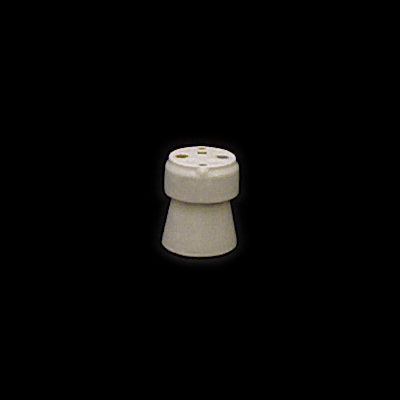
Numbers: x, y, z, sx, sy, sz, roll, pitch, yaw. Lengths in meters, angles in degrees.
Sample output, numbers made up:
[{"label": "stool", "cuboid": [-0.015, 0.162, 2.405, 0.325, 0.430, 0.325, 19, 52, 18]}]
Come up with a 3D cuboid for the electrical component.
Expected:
[{"label": "electrical component", "cuboid": [0.000, 0.000, 0.640, 0.045, 0.056, 0.044, 1, 22, 0]}]
